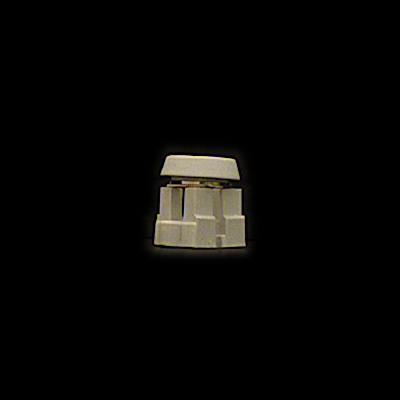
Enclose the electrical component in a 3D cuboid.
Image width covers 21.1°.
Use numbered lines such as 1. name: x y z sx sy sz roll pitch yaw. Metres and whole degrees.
1. electrical component: 0.000 0.000 0.658 0.048 0.055 0.067 6 4 45
